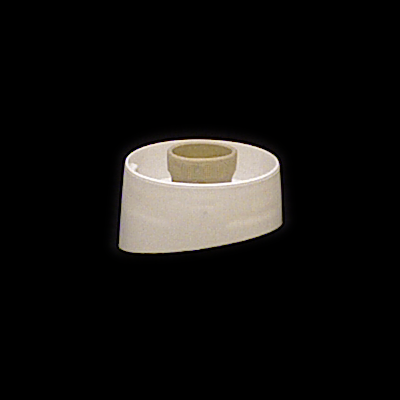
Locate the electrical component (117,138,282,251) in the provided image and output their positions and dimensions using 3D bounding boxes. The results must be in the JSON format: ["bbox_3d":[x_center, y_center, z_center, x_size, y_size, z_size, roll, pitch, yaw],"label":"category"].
[{"bbox_3d":[0.000,0.000,0.638,0.099,0.065,0.097,1,20,0],"label":"electrical component"}]
